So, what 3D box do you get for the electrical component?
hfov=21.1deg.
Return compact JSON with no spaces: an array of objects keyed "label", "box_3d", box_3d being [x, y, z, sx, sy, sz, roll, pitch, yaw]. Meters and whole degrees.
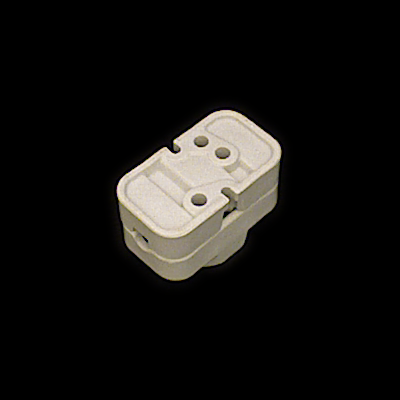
[{"label":"electrical component","box_3d":[0.000,0.000,0.636,0.096,0.059,0.053,-38,62,-25]}]
